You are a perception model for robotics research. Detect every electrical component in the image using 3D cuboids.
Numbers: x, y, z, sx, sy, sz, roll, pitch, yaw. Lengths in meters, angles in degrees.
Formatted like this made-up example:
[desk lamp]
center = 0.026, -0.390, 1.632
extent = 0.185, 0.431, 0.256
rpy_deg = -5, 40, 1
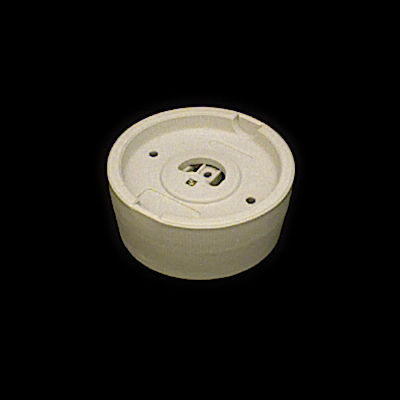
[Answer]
[electrical component]
center = 0.000, 0.000, 0.635
extent = 0.108, 0.061, 0.107
rpy_deg = 1, 42, 0
